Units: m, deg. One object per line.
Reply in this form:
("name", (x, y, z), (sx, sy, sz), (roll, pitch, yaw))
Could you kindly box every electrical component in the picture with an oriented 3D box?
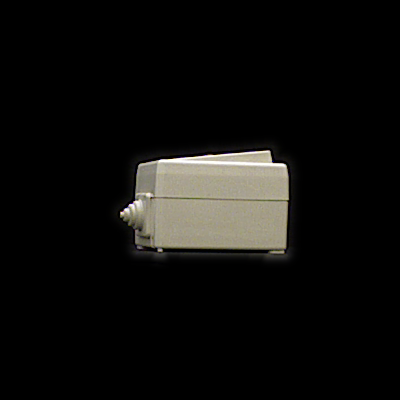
("electrical component", (0.000, 0.000, 0.649), (0.096, 0.061, 0.061), (1, 0, -16))
